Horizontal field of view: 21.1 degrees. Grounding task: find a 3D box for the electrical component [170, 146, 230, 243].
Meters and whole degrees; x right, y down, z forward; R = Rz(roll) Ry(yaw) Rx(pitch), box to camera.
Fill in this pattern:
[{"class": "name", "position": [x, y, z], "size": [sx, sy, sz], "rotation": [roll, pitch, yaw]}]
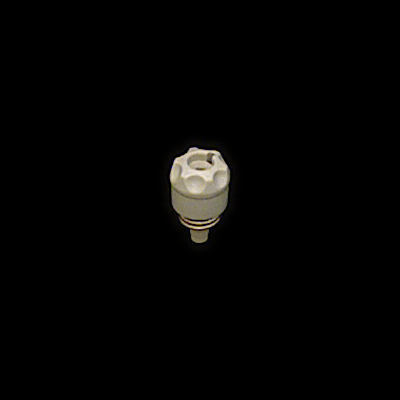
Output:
[{"class": "electrical component", "position": [0.000, 0.000, 0.638], "size": [0.035, 0.062, 0.035], "rotation": [1, 43, 0]}]
